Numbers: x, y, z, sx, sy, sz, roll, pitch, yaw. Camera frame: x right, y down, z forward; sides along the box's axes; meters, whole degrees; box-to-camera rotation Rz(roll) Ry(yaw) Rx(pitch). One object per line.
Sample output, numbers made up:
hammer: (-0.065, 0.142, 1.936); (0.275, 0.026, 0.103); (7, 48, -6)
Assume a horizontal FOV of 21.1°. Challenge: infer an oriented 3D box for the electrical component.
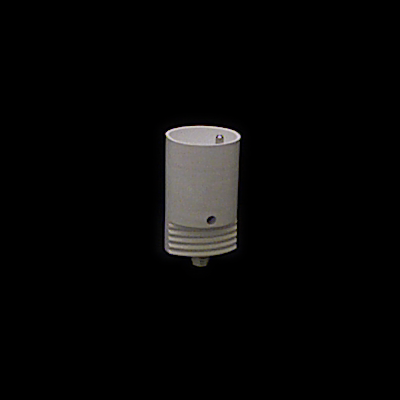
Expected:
electrical component: (0.000, 0.000, 0.637); (0.043, 0.082, 0.042); (2, 21, 0)
